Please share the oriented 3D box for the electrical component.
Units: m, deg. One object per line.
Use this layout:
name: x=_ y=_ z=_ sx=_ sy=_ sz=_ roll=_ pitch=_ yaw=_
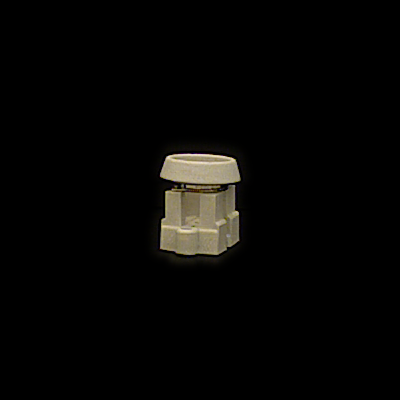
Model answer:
electrical component: x=0.000 y=0.000 z=0.653 sx=0.048 sy=0.056 sz=0.066 roll=7 pitch=13 yaw=17
